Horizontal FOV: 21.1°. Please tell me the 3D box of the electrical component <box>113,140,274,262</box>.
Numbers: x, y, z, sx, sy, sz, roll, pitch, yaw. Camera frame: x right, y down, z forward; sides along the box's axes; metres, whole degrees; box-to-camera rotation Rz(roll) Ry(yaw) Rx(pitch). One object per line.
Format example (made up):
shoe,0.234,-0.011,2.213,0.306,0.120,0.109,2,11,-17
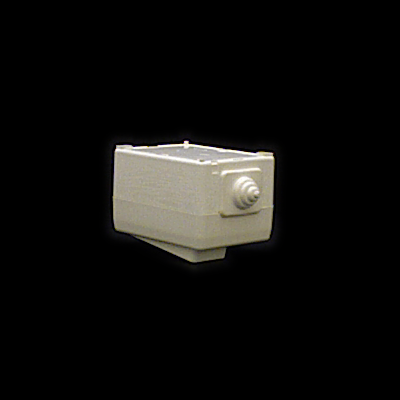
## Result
electrical component,0.000,0.000,0.640,0.061,0.061,0.096,-8,13,-43
